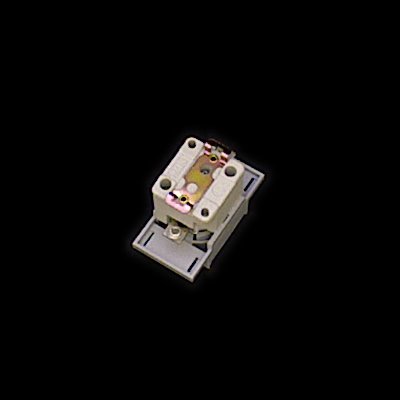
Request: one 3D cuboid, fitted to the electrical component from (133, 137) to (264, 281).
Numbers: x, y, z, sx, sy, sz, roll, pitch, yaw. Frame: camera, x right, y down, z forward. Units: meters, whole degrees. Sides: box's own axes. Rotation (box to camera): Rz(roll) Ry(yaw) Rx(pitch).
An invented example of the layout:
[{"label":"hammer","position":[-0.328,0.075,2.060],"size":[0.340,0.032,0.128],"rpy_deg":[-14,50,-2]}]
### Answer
[{"label":"electrical component","position":[0.000,0.000,0.625],"size":[0.042,0.081,0.063],"rpy_deg":[29,-24,14]}]
